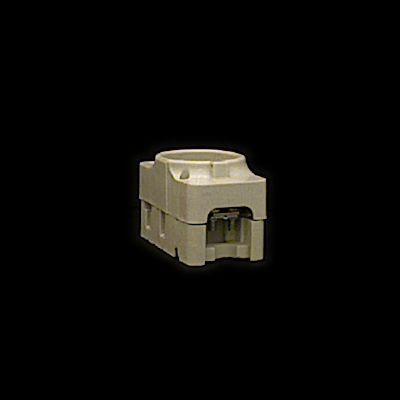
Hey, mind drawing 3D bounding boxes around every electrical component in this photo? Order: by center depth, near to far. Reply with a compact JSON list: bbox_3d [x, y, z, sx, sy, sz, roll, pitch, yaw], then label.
[{"bbox_3d":[0.000,0.000,0.651,0.050,0.056,0.088,-4,12,-23],"label":"electrical component"}]
